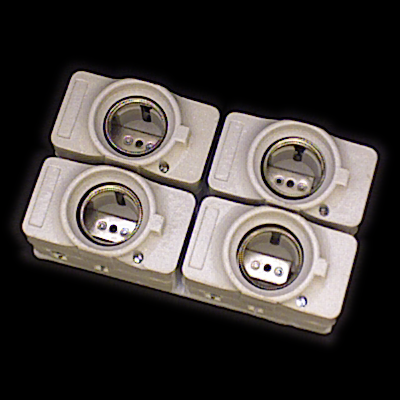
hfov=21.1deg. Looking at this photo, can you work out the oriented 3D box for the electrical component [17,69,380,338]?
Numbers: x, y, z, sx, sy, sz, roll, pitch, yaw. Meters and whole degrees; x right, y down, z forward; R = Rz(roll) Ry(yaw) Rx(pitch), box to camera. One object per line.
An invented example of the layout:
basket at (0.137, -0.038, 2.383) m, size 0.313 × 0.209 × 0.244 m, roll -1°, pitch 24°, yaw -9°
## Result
electrical component at (0.000, 0.000, 0.626) m, size 0.186 × 0.106 × 0.060 m, roll 15°, pitch -17°, yaw 4°
